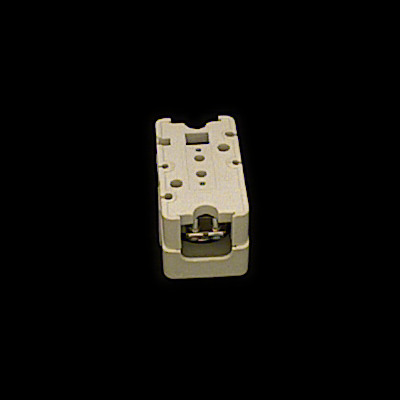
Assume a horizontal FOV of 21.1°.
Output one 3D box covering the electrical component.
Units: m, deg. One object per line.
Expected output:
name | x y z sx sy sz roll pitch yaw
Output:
electrical component | 0.000 0.000 0.639 0.050 0.056 0.088 -3 42 -3
